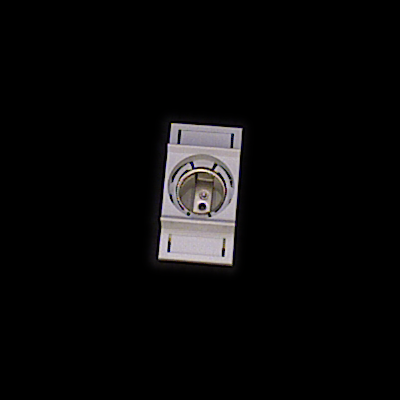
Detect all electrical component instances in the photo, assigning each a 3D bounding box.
[{"bbox_3d":[0.000,0.000,0.624,0.042,0.081,0.063,5,-16,3],"label":"electrical component"}]
